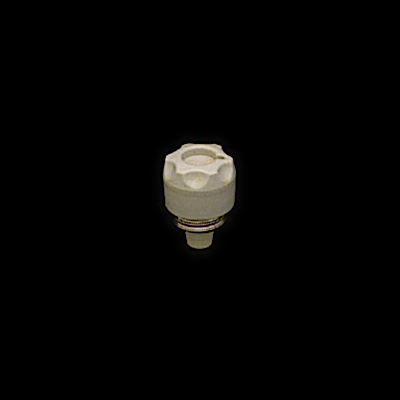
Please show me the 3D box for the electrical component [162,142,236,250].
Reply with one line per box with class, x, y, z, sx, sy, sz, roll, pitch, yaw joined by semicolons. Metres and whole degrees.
electrical component;0.000;0.000;0.641;0.043;0.063;0.043;0;32;0
